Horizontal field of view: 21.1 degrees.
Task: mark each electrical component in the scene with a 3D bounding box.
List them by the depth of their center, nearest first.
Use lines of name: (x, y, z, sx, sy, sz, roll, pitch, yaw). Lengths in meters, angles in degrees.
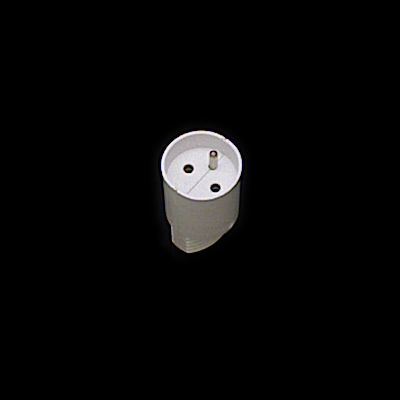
electrical component: (0.000, 0.000, 0.617, 0.043, 0.043, 0.081, 0, -28, -1)
